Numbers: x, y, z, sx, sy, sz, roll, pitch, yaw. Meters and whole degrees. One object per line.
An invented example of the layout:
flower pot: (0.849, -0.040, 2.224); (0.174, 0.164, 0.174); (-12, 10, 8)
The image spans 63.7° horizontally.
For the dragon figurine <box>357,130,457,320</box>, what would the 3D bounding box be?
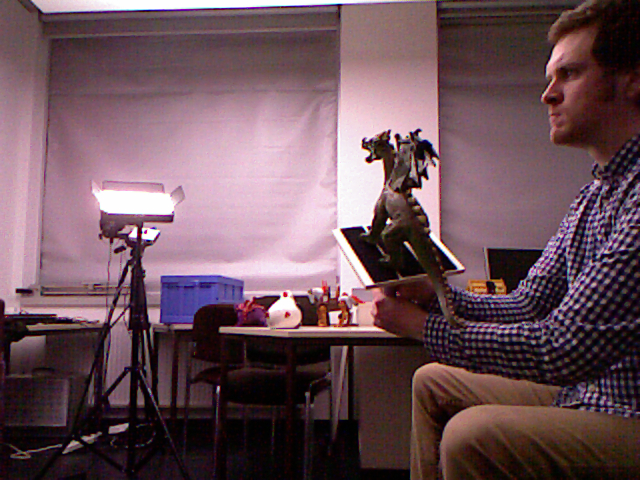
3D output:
dragon figurine: (0.166, -0.073, 0.953); (0.123, 0.237, 0.420); (-13, 39, -16)
